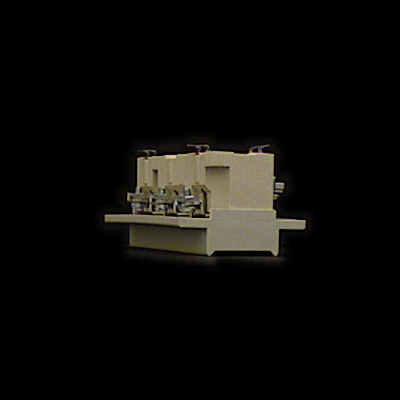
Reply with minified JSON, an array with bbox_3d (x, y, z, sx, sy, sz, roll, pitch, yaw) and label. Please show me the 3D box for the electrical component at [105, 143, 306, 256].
[{"bbox_3d":[0.000,0.000,0.654,0.079,0.063,0.120,0,0,-25],"label":"electrical component"}]
